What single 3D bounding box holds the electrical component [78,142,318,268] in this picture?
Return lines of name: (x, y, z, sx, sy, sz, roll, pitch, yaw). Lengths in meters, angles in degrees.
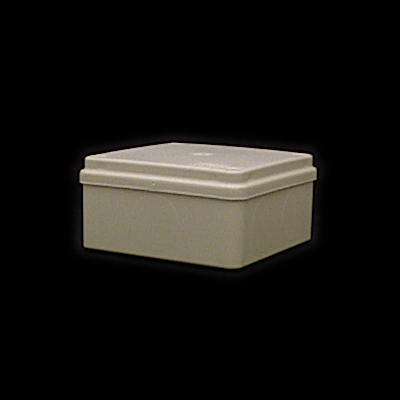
electrical component: (0.000, 0.000, 0.647, 0.108, 0.056, 0.108, 7, 11, 29)
